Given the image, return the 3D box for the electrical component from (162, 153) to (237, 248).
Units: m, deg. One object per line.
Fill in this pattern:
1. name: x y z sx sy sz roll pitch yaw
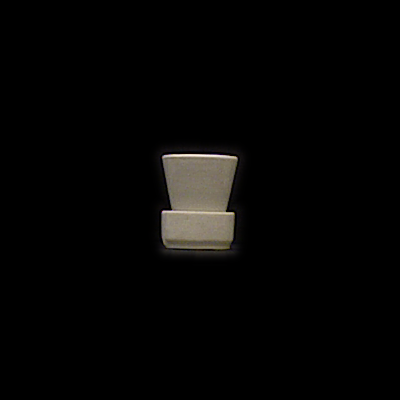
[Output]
1. electrical component: 0.000 0.000 0.649 0.045 0.055 0.044 1 2 0
